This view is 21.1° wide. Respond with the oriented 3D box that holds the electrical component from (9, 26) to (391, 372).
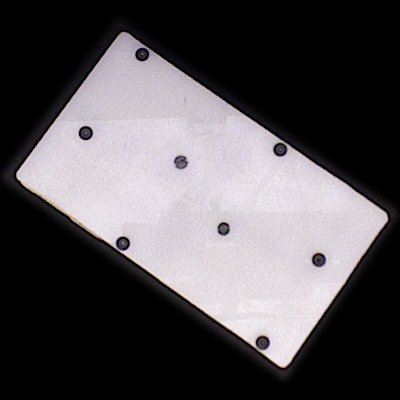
[{"bbox_3d":[0.000,0.000,0.626,0.186,0.106,0.060,35,-5,4],"label":"electrical component"}]
